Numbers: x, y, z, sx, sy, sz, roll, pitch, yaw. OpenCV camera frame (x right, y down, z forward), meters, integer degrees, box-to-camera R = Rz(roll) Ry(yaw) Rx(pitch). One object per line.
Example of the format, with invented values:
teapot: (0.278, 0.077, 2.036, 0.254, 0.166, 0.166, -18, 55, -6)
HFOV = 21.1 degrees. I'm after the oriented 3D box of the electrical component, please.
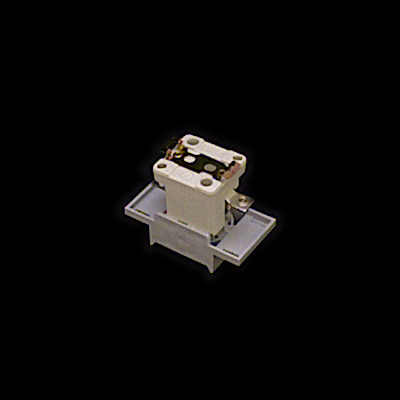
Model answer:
electrical component: (0.000, 0.000, 0.629, 0.080, 0.064, 0.042, 23, 47, 23)
